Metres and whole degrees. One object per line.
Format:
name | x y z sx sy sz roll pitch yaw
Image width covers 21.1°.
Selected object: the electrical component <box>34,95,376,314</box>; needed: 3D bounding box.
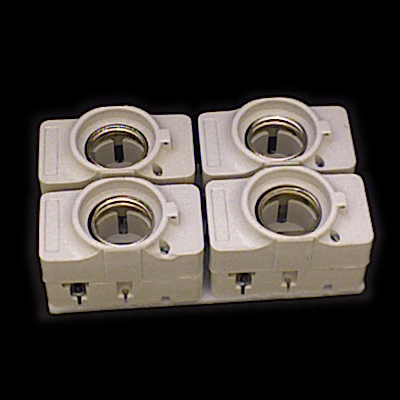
electrical component | 0.000 0.000 0.628 0.186 0.105 0.060 -3 -38 -3
